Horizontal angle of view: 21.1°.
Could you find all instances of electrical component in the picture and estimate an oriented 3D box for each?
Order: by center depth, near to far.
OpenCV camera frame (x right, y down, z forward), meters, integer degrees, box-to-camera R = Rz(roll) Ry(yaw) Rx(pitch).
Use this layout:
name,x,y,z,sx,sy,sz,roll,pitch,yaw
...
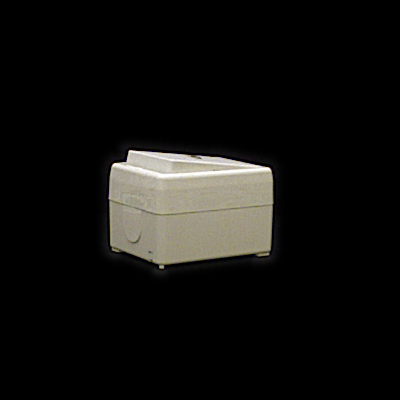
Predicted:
name,x,y,z,sx,sy,sz,roll,pitch,yaw
electrical component,0.000,0.000,0.645,0.096,0.061,0.061,-6,13,-33
